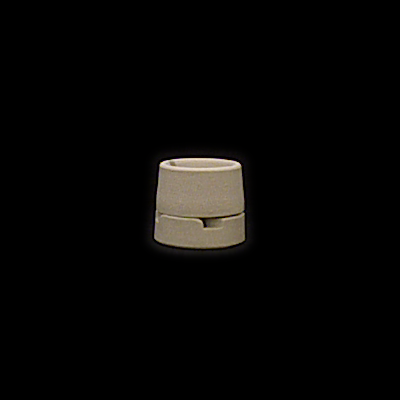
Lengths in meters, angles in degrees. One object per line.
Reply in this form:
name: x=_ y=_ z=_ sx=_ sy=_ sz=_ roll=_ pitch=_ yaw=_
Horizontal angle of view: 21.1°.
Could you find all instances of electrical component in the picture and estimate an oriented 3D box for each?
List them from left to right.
electrical component: x=0.000 y=0.000 z=0.647 sx=0.055 sy=0.047 sz=0.055 roll=1 pitch=10 yaw=0
